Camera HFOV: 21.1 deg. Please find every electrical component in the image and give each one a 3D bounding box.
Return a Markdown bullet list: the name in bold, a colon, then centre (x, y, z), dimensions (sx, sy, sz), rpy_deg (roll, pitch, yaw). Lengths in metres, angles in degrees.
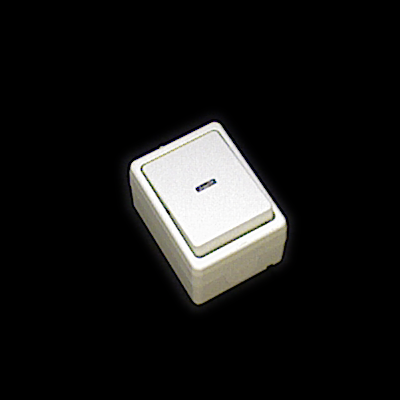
- **electrical component**: centre (0.000, 0.000, 0.627), dimensions (0.062, 0.096, 0.061), rpy_deg (-27, -24, -13)
